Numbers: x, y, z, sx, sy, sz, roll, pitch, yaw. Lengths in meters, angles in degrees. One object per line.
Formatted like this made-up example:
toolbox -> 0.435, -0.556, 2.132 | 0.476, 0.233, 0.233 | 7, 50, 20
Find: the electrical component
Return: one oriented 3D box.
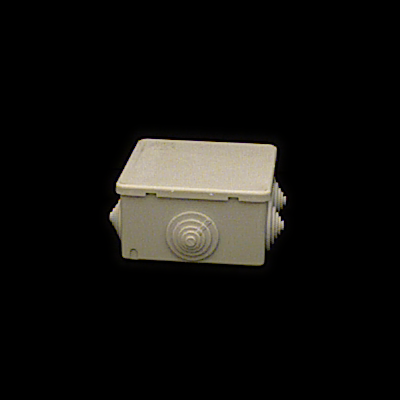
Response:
electrical component -> 0.000, 0.000, 0.648 | 0.099, 0.049, 0.099 | 3, 22, 5
